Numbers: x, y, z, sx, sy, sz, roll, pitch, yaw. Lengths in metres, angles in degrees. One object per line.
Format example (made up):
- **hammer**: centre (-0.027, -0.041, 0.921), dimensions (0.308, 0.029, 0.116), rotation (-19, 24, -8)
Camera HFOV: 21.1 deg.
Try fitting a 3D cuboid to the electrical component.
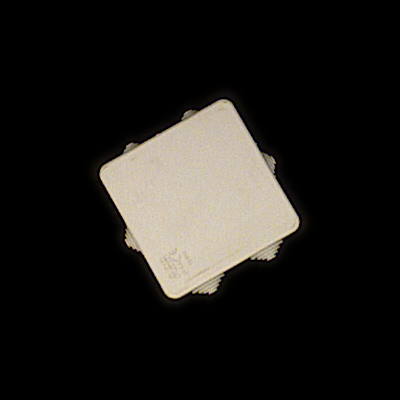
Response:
- **electrical component**: centre (0.000, 0.000, 0.642), dimensions (0.100, 0.100, 0.048), rotation (-29, -5, -3)
